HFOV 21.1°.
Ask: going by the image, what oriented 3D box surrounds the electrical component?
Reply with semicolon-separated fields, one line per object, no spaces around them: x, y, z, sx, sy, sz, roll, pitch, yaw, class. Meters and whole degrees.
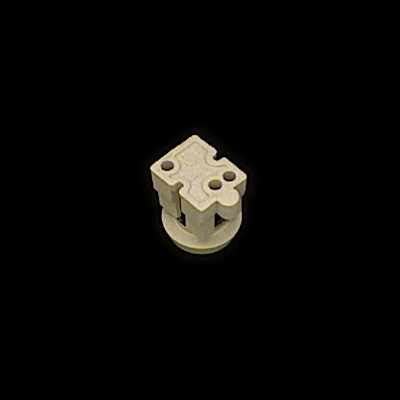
0.000;0.000;0.638;0.048;0.055;0.066;-37;61;-23;electrical component
